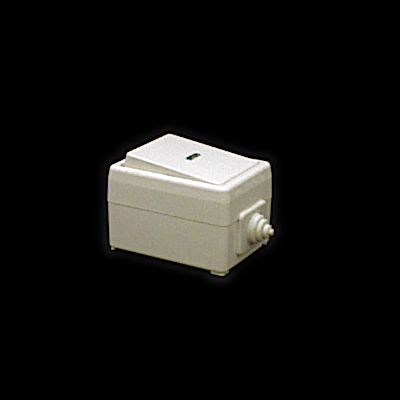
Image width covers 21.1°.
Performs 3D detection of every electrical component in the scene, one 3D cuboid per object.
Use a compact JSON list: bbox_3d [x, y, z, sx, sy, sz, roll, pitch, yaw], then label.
[{"bbox_3d":[0.000,0.000,0.638,0.096,0.061,0.061,12,23,27],"label":"electrical component"}]
